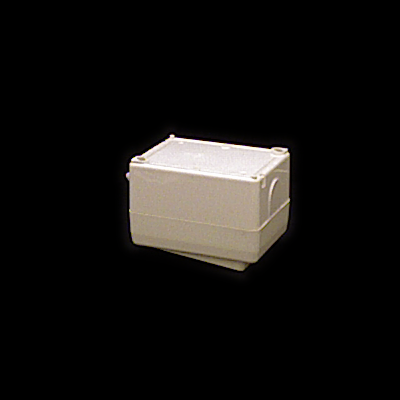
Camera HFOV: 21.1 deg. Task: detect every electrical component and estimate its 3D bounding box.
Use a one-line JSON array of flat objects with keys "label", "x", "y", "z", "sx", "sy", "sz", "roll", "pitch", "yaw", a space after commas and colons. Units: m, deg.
[{"label": "electrical component", "x": 0.000, "y": 0.000, "z": 0.642, "sx": 0.096, "sy": 0.061, "sz": 0.061, "roll": 8, "pitch": 22, "yaw": 20}]
